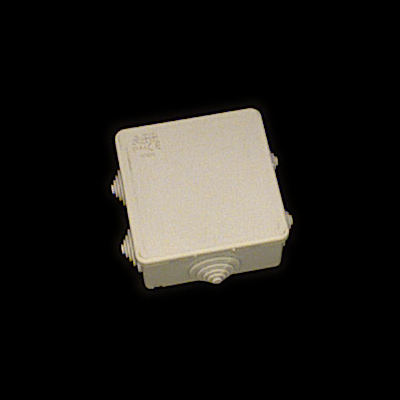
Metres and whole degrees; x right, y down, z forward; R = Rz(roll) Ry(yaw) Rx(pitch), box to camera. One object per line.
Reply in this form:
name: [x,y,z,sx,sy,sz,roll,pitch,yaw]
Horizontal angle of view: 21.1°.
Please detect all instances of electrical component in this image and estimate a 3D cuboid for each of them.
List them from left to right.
electrical component: [0.000,0.000,0.640,0.100,0.099,0.048,-9,-26,-5]
